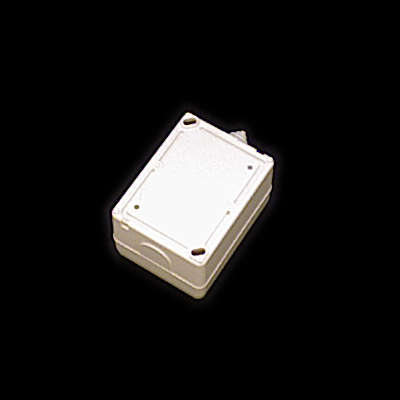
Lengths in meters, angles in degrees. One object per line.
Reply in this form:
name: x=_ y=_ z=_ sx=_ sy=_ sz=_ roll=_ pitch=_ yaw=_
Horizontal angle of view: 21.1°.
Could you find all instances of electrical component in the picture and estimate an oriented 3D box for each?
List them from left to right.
electrical component: x=0.000 y=0.000 z=0.628 sx=0.062 sy=0.096 sz=0.061 roll=29 pitch=-24 yaw=14
